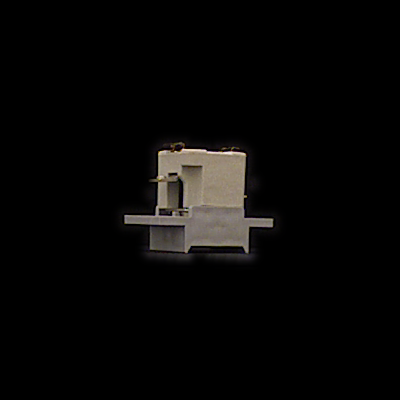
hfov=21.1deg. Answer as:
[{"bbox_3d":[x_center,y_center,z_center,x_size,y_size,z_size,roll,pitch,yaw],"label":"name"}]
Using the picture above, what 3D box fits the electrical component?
[{"bbox_3d":[0.000,0.000,0.650,0.081,0.064,0.042,1,1,-34],"label":"electrical component"}]
